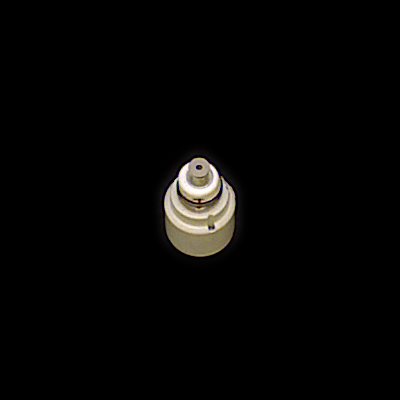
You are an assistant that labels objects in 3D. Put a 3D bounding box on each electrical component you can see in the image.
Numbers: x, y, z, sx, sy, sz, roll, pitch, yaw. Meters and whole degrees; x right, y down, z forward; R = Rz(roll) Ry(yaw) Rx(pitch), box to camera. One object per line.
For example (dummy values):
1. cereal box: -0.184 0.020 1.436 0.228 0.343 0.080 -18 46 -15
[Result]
1. electrical component: 0.000 0.000 0.617 0.040 0.040 0.078 0 -28 1
